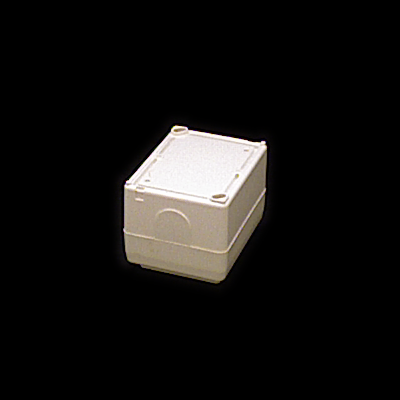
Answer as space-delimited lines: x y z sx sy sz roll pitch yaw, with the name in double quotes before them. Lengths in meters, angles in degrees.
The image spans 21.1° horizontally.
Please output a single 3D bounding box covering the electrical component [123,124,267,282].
"electrical component" 0.000 0.000 0.635 0.061 0.061 0.095 11 32 16
